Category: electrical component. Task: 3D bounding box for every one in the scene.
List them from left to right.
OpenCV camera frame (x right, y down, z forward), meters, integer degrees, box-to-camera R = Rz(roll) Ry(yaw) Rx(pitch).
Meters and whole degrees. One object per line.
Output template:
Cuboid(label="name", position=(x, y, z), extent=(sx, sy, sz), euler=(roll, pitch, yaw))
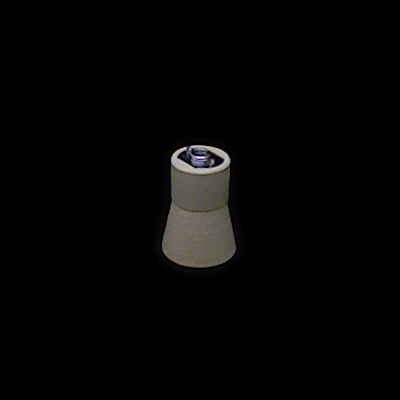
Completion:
Cuboid(label="electrical component", position=(0.000, 0.000, 0.634), extent=(0.044, 0.066, 0.044), euler=(1, 31, -1))
